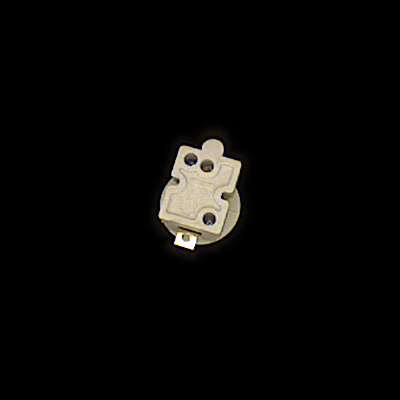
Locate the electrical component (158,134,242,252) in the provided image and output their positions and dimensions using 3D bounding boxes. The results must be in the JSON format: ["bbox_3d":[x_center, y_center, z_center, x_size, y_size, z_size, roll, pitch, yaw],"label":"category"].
[{"bbox_3d":[0.000,0.000,0.638,0.048,0.067,0.055,16,-14,4],"label":"electrical component"}]
